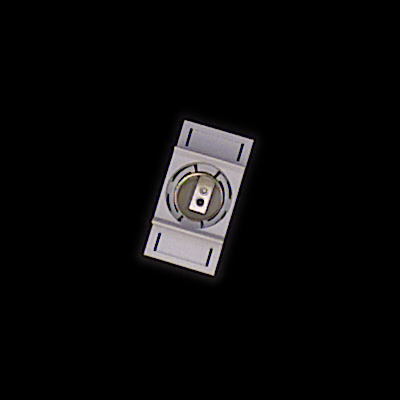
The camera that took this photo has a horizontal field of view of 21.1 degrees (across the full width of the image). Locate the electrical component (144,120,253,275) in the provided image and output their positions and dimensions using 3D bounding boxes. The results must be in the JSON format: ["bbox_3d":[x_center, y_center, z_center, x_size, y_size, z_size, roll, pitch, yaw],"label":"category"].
[{"bbox_3d":[0.000,0.000,0.625,0.042,0.081,0.063,17,-6,3],"label":"electrical component"}]
